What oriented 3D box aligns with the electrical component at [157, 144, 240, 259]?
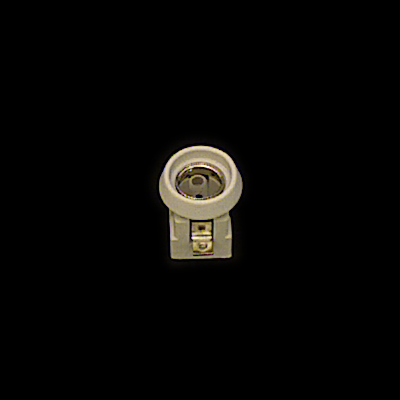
[{"bbox_3d":[0.000,0.000,0.637,0.048,0.066,0.056,-4,-37,-1],"label":"electrical component"}]
